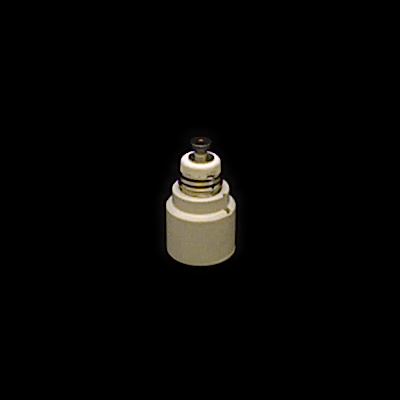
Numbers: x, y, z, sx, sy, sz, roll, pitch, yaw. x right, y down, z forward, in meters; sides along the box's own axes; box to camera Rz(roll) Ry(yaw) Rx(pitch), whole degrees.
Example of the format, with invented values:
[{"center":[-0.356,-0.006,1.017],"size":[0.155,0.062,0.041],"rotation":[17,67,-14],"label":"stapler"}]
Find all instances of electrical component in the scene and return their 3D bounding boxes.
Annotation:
[{"center":[0.000,0.000,0.629],"size":[0.040,0.079,0.039],"rotation":[0,31,0],"label":"electrical component"}]
